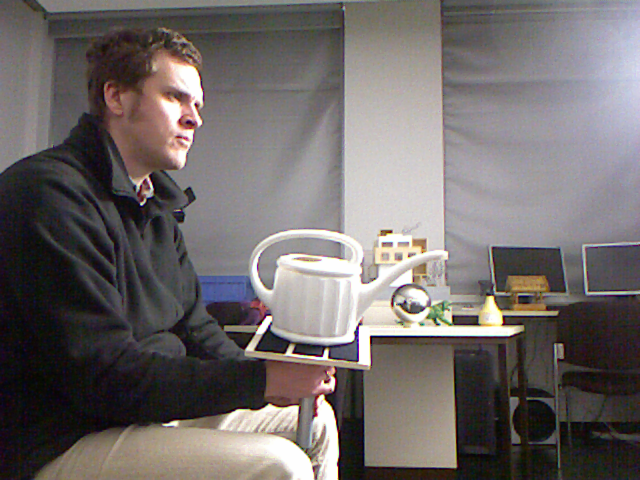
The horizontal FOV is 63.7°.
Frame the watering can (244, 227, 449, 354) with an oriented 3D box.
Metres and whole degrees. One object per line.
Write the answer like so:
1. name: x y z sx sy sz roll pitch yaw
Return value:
1. watering can: 0.037 0.094 0.893 0.348 0.222 0.105 6 13 5
